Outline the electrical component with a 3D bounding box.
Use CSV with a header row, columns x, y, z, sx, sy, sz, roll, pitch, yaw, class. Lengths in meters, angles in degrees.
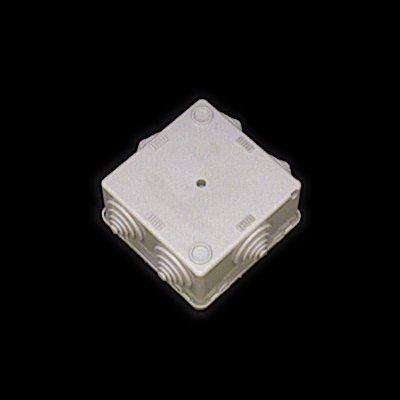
x,y,z,sx,sy,sz,roll,pitch,yaw,class
0.000,0.000,0.631,0.100,0.099,0.048,-41,-20,-18,electrical component
